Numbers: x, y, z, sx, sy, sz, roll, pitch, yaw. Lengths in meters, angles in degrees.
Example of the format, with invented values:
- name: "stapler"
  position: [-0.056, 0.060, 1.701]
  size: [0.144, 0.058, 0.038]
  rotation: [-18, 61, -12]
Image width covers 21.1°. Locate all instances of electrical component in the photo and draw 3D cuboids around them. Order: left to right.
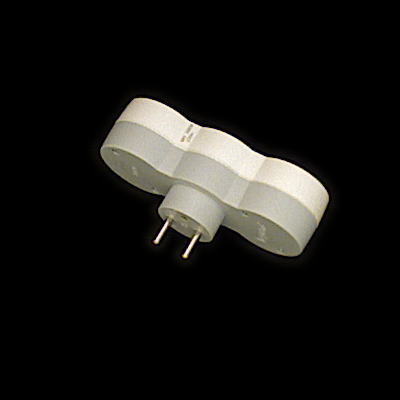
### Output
- name: "electrical component"
  position: [0.000, 0.000, 0.637]
  size: [0.137, 0.074, 0.052]
  rotation: [26, -22, 12]
